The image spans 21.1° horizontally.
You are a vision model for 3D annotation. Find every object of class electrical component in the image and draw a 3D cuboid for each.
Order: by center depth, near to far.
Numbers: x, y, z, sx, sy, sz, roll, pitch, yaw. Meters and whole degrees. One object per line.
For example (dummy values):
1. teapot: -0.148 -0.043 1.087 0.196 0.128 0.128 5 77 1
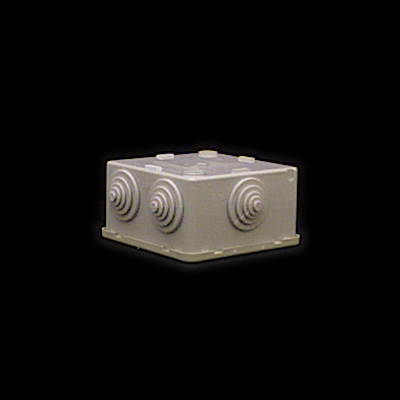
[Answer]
1. electrical component: 0.000 0.000 0.644 0.100 0.049 0.099 -8 14 -39
